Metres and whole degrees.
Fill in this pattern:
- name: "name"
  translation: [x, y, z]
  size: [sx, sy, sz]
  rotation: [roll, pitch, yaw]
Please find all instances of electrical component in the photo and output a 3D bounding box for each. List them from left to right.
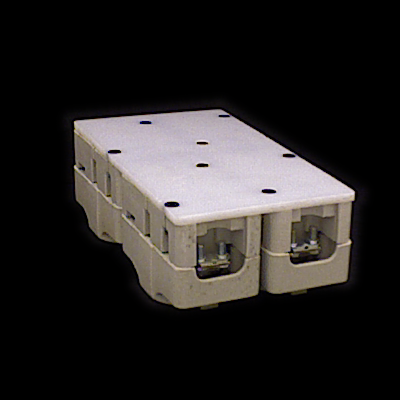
- name: "electrical component"
  translation: [0.000, 0.000, 0.638]
  size: [0.105, 0.061, 0.184]
  rotation: [-7, 22, -22]
